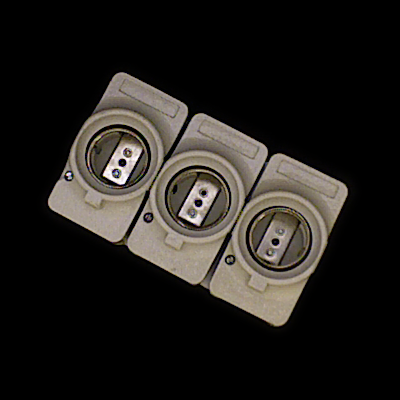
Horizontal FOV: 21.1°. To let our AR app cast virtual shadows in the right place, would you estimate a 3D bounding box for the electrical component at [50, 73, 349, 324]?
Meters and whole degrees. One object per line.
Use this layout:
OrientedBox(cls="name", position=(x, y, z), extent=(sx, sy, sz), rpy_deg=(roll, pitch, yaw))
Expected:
OrientedBox(cls="electrical component", position=(0.000, 0.000, 0.632), extent=(0.150, 0.089, 0.061), rpy_deg=(27, -5, 3))
